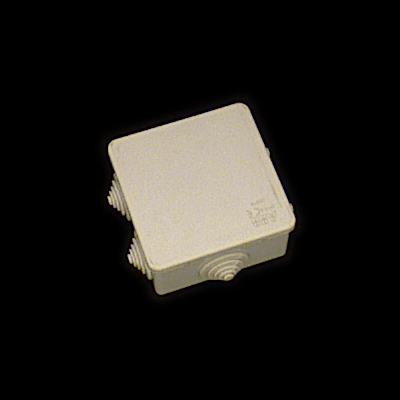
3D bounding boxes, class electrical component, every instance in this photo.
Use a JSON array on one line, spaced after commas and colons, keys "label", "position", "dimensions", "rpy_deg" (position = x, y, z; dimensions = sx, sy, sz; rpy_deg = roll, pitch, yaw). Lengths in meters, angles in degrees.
[{"label": "electrical component", "position": [0.000, 0.000, 0.640], "dimensions": [0.100, 0.099, 0.048], "rpy_deg": [-17, -25, -9]}]
